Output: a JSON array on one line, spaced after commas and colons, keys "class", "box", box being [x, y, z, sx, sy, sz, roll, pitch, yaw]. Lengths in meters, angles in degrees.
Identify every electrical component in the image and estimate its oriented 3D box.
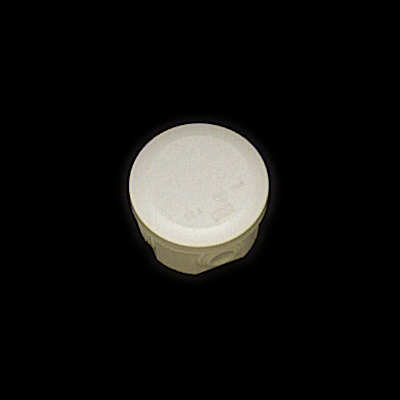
[{"class": "electrical component", "box": [0.000, 0.000, 0.629, 0.080, 0.080, 0.050, 0, -27, 0]}]
